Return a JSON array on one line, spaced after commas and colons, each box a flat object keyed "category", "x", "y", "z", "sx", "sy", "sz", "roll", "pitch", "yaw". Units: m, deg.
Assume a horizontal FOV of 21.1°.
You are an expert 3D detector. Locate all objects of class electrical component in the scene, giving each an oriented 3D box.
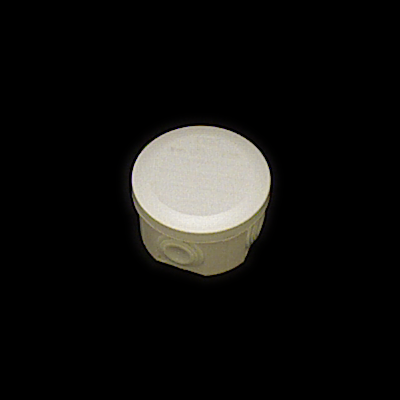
[{"category": "electrical component", "x": 0.000, "y": 0.000, "z": 0.631, "sx": 0.080, "sy": 0.080, "sz": 0.051, "roll": 0, "pitch": -38, "yaw": 0}]
